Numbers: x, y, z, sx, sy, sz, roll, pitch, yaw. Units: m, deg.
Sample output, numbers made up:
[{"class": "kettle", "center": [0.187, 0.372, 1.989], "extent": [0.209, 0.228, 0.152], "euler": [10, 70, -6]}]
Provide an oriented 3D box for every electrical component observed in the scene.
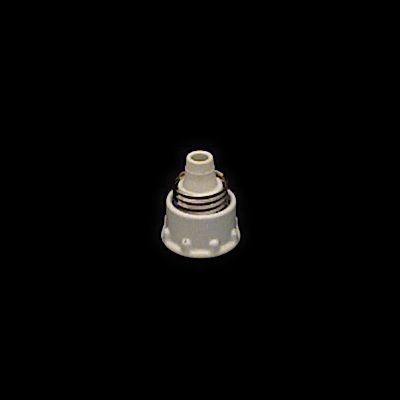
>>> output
[{"class": "electrical component", "center": [0.000, 0.000, 0.639], "extent": [0.048, 0.063, 0.047], "euler": [0, 33, 1]}]
